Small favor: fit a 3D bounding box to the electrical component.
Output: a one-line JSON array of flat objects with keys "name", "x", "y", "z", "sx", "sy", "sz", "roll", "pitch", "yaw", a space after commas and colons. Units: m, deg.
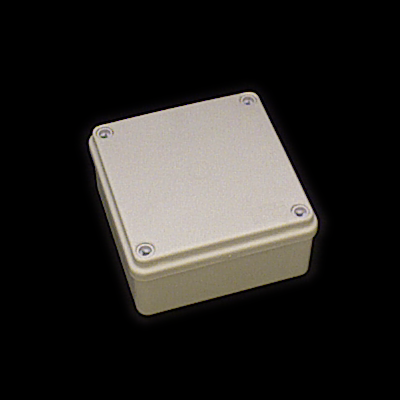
[{"name": "electrical component", "x": 0.000, "y": 0.000, "z": 0.631, "sx": 0.109, "sy": 0.108, "sz": 0.056, "roll": -14, "pitch": -37, "yaw": -11}]
